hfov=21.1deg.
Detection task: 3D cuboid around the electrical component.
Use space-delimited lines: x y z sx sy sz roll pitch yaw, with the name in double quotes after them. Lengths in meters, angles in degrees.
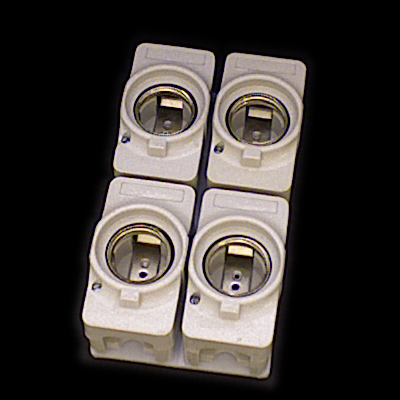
0.000 0.000 0.625 0.105 0.186 0.060 7 -27 3 "electrical component"
